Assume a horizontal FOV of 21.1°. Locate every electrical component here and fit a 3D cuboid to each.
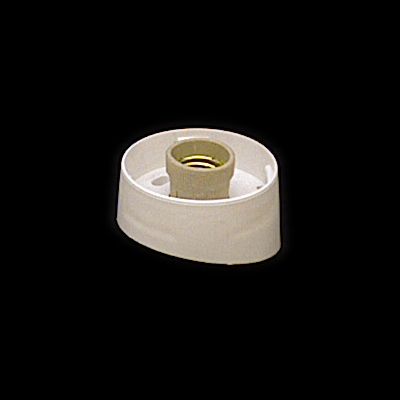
[{"bbox_3d":[0.000,0.000,0.633,0.099,0.065,0.097,1,31,0],"label":"electrical component"}]
